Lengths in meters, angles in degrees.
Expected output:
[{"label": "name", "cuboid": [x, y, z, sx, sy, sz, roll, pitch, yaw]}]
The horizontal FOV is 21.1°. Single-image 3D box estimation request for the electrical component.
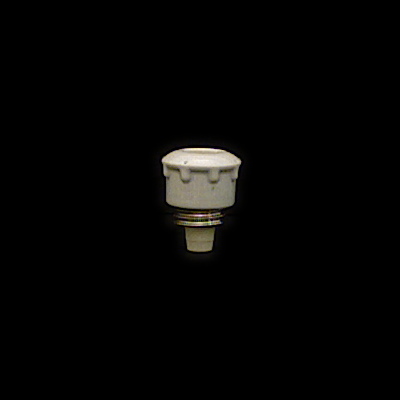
[{"label": "electrical component", "cuboid": [0.000, 0.000, 0.654, 0.048, 0.062, 0.048, 1, 11, 0]}]
